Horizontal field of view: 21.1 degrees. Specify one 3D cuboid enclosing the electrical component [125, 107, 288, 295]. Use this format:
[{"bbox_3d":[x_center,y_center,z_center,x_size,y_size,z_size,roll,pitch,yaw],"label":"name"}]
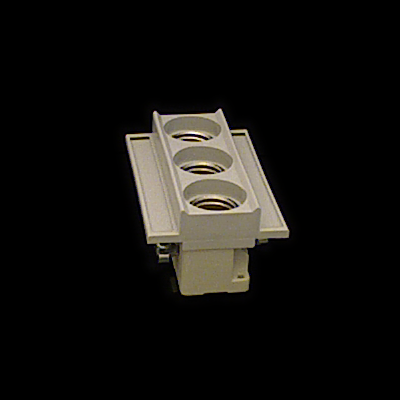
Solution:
[{"bbox_3d":[0.000,0.000,0.647,0.079,0.064,0.119,-3,32,-9],"label":"electrical component"}]
